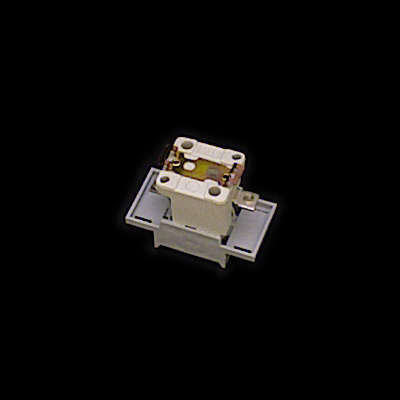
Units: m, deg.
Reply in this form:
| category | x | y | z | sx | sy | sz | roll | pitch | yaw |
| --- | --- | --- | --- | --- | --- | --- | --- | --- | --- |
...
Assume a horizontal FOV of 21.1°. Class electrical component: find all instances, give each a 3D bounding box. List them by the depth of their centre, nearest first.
| category | x | y | z | sx | sy | sz | roll | pitch | yaw |
| --- | --- | --- | --- | --- | --- | --- | --- | --- | --- |
| electrical component | 0.000 | 0.000 | 0.627 | 0.081 | 0.042 | 0.064 | 16 | -36 | 11 |
